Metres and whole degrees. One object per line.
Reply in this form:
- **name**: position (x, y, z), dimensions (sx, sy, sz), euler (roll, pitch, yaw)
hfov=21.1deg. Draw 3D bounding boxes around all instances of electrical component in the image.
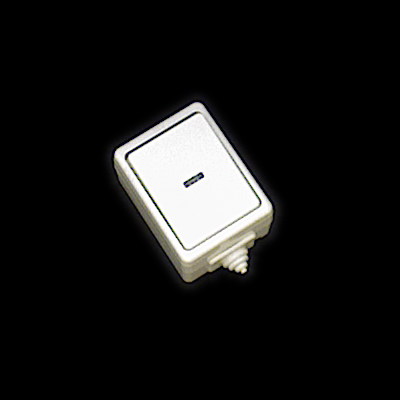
- **electrical component**: position (0.000, 0.000, 0.625), dimensions (0.062, 0.096, 0.060), euler (-32, -14, -9)
